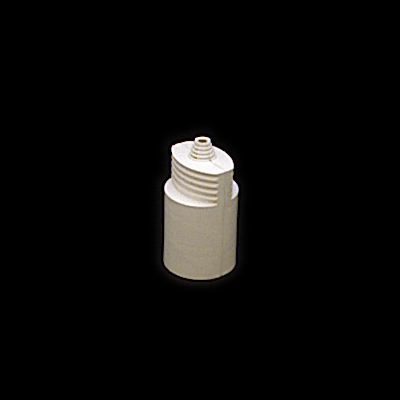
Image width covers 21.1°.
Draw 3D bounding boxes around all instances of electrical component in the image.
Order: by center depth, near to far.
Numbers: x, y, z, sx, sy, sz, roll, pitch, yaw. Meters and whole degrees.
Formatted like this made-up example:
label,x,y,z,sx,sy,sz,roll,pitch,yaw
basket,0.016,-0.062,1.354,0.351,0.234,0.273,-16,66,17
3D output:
label,x,y,z,sx,sy,sz,roll,pitch,yaw
electrical component,0.000,0.000,0.628,0.043,0.082,0.042,1,31,0
